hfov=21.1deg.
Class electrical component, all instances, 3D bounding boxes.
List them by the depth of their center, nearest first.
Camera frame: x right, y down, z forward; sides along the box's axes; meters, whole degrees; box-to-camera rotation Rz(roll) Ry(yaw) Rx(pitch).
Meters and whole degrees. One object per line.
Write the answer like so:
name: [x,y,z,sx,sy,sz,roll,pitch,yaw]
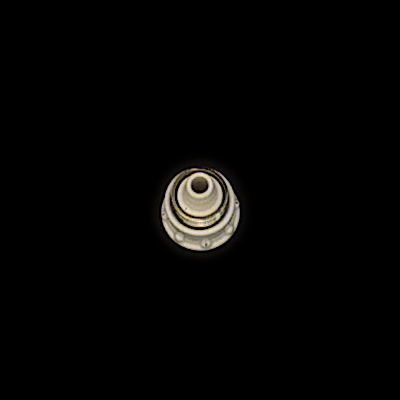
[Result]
electrical component: [0.000,0.000,0.634,0.048,0.048,0.061,0,-17,0]
